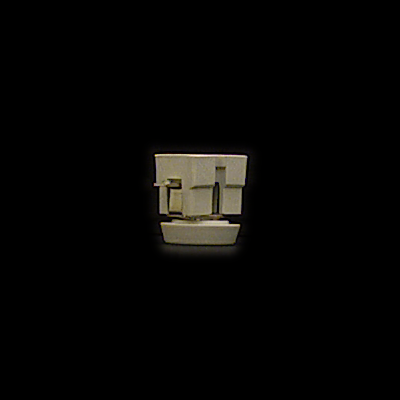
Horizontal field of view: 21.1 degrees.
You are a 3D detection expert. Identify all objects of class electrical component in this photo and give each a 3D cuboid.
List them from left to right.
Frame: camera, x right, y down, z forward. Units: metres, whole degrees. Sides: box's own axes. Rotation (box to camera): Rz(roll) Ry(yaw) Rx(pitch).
[{"bbox_3d":[0.000,0.000,0.658,0.067,0.055,0.048,-1,4,-41],"label":"electrical component"}]
